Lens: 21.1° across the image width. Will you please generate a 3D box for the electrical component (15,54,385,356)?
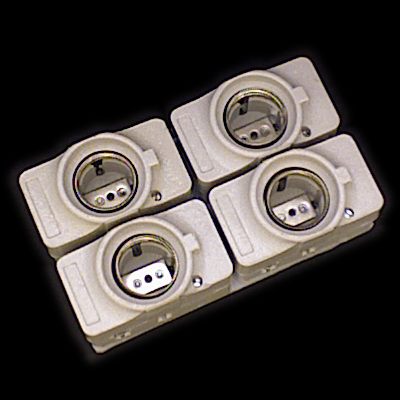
[{"bbox_3d":[0.000,0.000,0.626,0.187,0.106,0.060,-23,-16,-7],"label":"electrical component"}]
